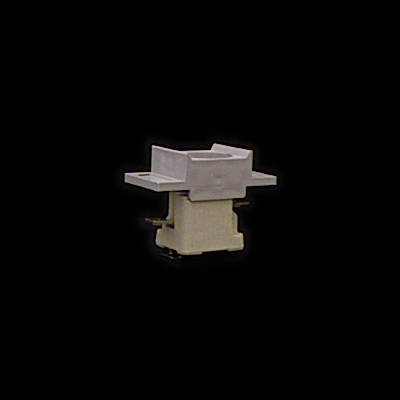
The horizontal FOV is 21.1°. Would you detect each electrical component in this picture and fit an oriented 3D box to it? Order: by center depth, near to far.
[{"bbox_3d":[0.000,0.000,0.642,0.081,0.064,0.042,-4,13,-30],"label":"electrical component"}]
